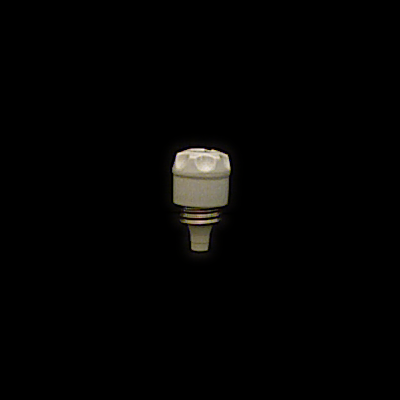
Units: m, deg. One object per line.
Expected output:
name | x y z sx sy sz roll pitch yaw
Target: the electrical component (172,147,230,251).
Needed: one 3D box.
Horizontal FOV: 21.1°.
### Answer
electrical component | 0.000 0.000 0.652 0.035 0.062 0.035 1 12 0
